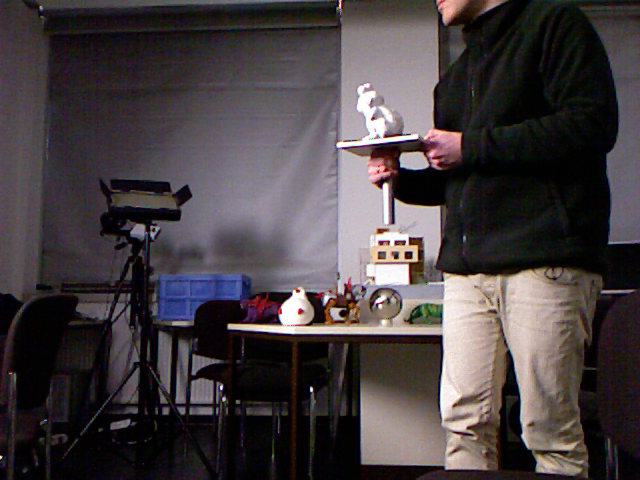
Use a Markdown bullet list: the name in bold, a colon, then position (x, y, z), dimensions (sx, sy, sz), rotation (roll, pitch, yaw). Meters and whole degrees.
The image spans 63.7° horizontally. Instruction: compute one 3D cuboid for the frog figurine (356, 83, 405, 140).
- **frog figurine**: position (0.159, -0.330, 1.347), dimensions (0.139, 0.159, 0.123), rotation (-13, 12, -41)
